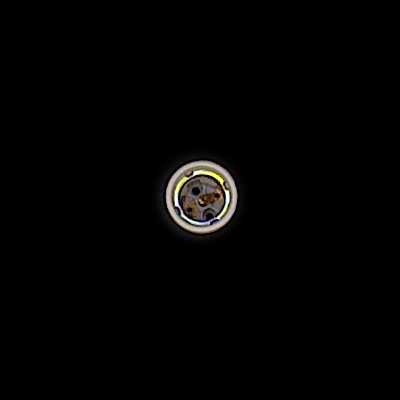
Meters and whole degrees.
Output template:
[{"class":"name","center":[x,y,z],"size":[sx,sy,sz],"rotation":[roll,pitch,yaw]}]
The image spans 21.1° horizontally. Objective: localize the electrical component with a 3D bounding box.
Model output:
[{"class":"electrical component","center":[0.000,0.000,0.627],"size":[0.040,0.040,0.046],"rotation":[0,-6,0]}]
